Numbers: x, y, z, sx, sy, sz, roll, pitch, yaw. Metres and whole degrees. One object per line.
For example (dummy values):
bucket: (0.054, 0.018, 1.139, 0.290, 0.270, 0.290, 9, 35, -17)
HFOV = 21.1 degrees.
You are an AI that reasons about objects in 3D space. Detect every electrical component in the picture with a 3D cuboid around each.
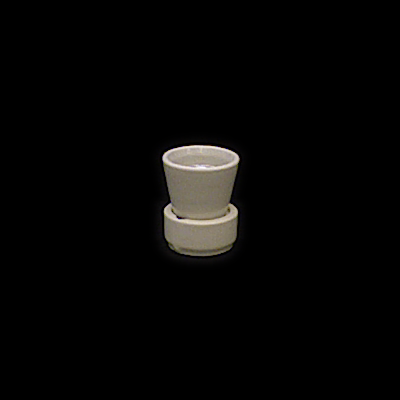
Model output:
electrical component: (0.000, 0.000, 0.639, 0.045, 0.056, 0.044, 1, 21, 0)
